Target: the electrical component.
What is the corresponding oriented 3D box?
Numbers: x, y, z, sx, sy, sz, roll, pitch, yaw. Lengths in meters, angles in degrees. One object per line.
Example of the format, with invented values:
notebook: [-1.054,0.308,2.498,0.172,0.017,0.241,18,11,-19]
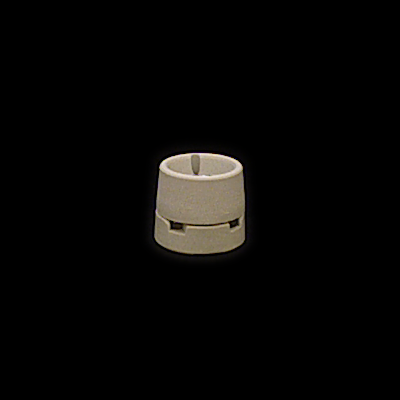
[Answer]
electrical component: [0.000,0.000,0.643,0.055,0.047,0.055,1,20,0]
